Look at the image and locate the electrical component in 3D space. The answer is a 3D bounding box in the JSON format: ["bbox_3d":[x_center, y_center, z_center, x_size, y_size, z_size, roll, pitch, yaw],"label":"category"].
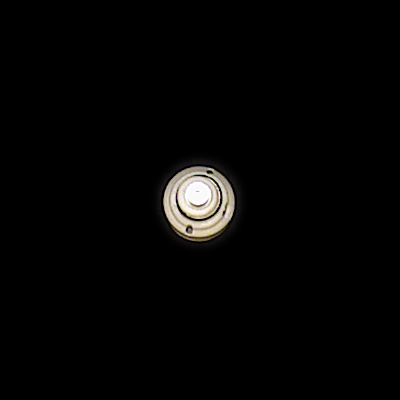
[{"bbox_3d":[0.000,0.000,0.618,0.040,0.040,0.078,0,-7,0],"label":"electrical component"}]
